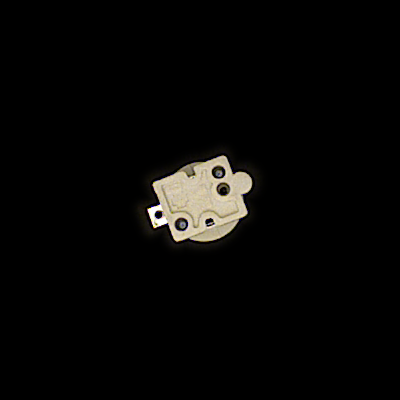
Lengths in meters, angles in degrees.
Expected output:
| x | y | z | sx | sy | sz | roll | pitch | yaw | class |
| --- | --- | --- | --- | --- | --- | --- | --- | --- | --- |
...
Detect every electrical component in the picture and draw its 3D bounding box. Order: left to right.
| x | y | z | sx | sy | sz | roll | pitch | yaw | class |
| --- | --- | --- | --- | --- | --- | --- | --- | --- | --- |
| 0.000 | 0.000 | 0.639 | 0.066 | 0.048 | 0.055 | -21 | -4 | 0 | electrical component |
